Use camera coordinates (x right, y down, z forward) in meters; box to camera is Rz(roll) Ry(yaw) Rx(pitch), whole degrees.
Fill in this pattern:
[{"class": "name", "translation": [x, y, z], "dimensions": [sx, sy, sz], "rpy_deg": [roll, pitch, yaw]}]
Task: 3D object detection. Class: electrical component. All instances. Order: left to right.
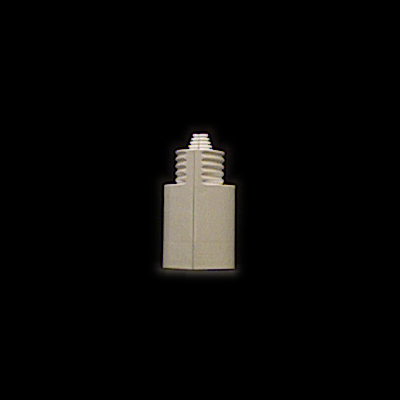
[{"class": "electrical component", "translation": [0.000, 0.000, 0.650], "dimensions": [0.043, 0.081, 0.043], "rpy_deg": [1, 1, 0]}]
